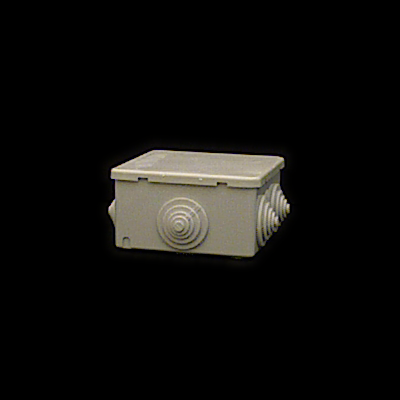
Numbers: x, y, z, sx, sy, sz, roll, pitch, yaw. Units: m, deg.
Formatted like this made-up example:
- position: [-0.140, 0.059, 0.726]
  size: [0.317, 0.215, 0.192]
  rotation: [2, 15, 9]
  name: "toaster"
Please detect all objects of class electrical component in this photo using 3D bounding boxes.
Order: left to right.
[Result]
- position: [0.000, 0.000, 0.653]
  size: [0.099, 0.049, 0.099]
  rotation: [4, 12, 13]
  name: "electrical component"
